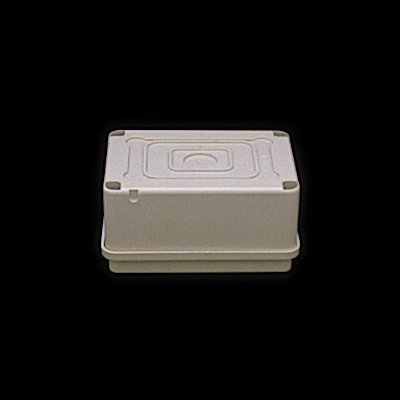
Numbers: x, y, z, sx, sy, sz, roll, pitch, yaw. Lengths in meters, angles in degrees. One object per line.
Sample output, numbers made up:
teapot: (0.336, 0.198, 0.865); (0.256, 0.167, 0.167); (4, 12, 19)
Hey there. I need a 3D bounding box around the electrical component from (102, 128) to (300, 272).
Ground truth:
electrical component: (0.000, 0.000, 0.635); (0.113, 0.058, 0.077); (0, 31, -2)
